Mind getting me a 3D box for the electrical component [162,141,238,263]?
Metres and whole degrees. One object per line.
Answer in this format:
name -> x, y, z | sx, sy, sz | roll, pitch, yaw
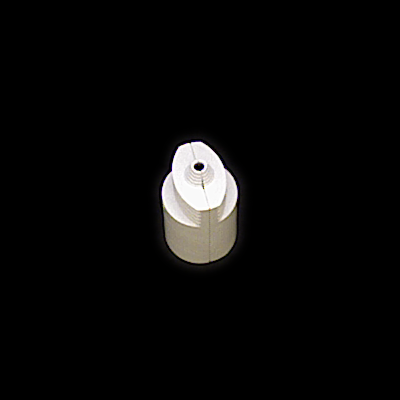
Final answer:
electrical component -> 0.000, 0.000, 0.617 | 0.043, 0.043, 0.081 | 0, -27, 0
